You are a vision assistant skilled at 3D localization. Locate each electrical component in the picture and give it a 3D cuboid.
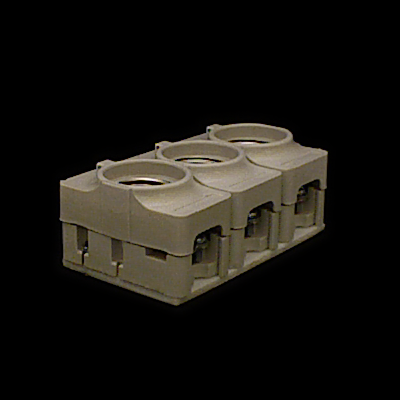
[{"bbox_3d":[0.000,0.000,0.645,0.088,0.063,0.149,15,24,34],"label":"electrical component"}]
